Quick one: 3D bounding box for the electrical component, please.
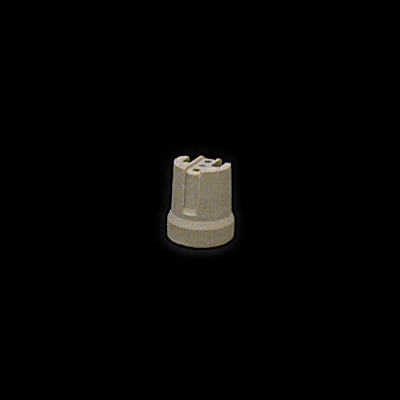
[{"bbox_3d":[0.000,0.000,0.642,0.040,0.046,0.040,1,22,0],"label":"electrical component"}]
